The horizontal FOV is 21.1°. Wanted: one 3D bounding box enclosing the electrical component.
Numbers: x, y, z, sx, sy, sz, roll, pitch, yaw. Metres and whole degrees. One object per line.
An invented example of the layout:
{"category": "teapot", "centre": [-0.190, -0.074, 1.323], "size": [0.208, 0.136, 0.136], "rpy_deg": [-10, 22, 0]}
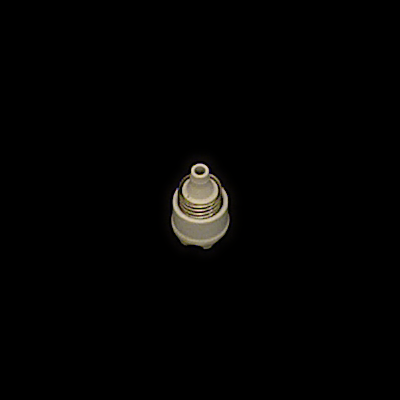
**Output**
{"category": "electrical component", "centre": [0.000, 0.000, 0.640], "size": [0.035, 0.035, 0.062], "rpy_deg": [0, -36, 1]}
